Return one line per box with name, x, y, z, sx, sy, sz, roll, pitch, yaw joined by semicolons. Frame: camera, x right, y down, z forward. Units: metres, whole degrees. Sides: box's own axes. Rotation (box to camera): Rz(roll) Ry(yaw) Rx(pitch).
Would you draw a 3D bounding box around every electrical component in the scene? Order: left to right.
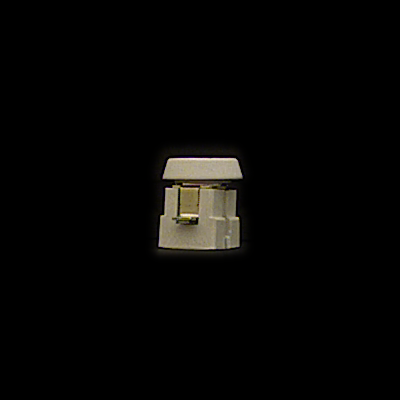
electrical component;0.000;0.000;0.656;0.048;0.055;0.067;0;1;20
